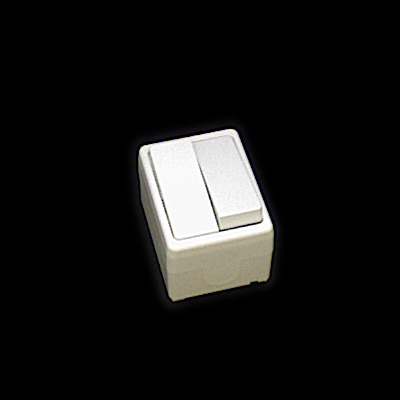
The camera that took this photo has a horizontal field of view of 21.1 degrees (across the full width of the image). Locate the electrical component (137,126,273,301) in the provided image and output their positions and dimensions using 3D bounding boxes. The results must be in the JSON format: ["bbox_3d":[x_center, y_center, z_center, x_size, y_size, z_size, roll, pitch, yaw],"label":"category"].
[{"bbox_3d":[0.000,0.000,0.630,0.062,0.096,0.061,-11,-37,-9],"label":"electrical component"}]
